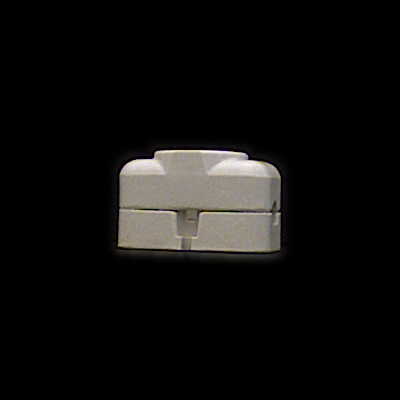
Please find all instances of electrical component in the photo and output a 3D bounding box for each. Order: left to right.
[{"bbox_3d":[0.000,0.000,0.658,0.095,0.059,0.054,2,2,16],"label":"electrical component"}]
